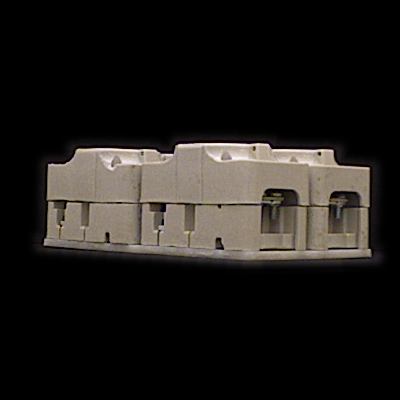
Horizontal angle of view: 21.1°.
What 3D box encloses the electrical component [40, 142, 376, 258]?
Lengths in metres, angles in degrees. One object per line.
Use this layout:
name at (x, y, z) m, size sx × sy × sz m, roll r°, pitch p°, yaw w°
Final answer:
electrical component at (0.000, 0.000, 0.650) m, size 0.106 × 0.060 × 0.186 m, roll 2°, pitch 0°, yaw -43°
